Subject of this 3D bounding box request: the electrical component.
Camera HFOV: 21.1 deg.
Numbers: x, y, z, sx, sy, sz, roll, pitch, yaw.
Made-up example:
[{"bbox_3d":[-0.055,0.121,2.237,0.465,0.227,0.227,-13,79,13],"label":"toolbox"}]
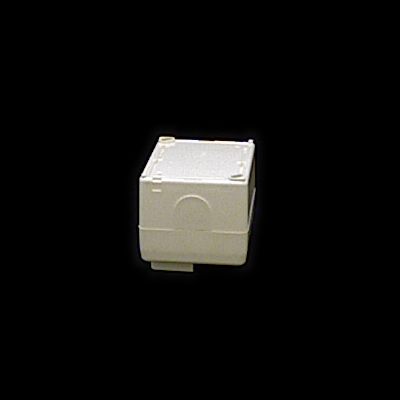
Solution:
[{"bbox_3d":[0.000,0.000,0.646,0.061,0.062,0.095,2,21,5],"label":"electrical component"}]
